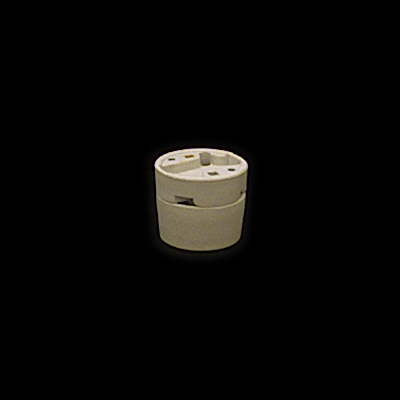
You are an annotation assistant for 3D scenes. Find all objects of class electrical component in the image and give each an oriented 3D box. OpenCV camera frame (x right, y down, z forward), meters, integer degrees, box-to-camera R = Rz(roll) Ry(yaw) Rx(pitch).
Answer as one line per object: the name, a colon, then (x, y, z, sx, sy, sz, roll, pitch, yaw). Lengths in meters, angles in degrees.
electrical component: (0.000, 0.000, 0.640, 0.055, 0.047, 0.055, 1, 21, 0)
